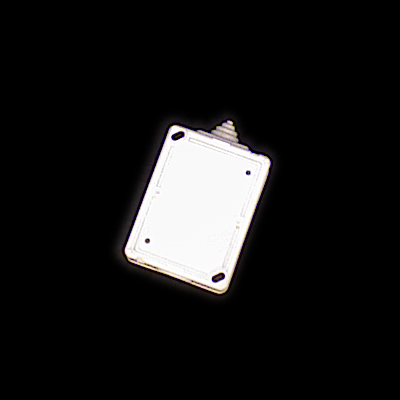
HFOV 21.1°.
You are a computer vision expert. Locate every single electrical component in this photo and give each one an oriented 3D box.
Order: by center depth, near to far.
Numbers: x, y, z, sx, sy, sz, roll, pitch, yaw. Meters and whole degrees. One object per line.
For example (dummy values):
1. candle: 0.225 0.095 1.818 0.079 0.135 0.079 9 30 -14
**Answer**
1. electrical component: 0.000 0.000 0.629 0.062 0.096 0.061 20 -7 3
